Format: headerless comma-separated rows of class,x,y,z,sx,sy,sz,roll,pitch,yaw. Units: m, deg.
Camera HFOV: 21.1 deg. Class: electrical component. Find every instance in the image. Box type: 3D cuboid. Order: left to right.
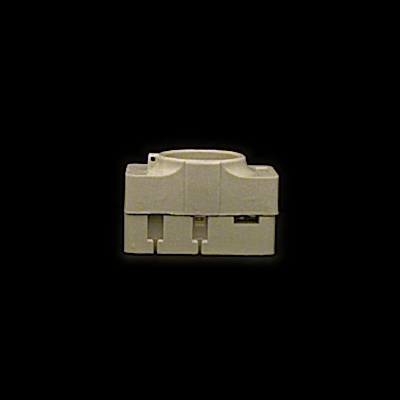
electrical component,0.000,0.000,0.652,0.090,0.056,0.049,1,12,-4
